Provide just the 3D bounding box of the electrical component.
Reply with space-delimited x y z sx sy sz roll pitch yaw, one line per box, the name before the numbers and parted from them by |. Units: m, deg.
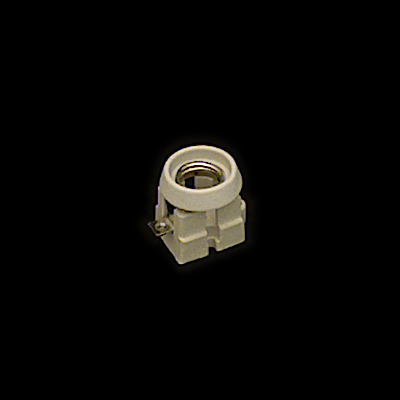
electrical component | 0.000 0.000 0.639 0.067 0.056 0.048 -20 45 -22
